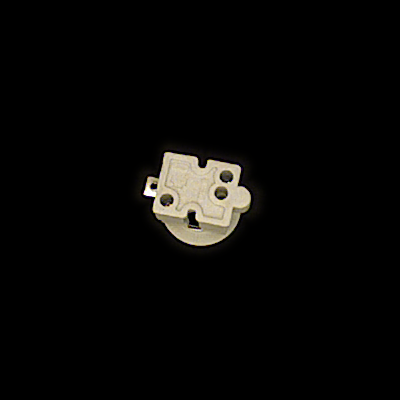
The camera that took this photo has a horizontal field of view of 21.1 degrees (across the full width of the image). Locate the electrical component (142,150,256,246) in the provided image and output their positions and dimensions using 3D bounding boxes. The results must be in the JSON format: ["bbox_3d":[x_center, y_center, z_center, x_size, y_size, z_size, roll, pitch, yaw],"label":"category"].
[{"bbox_3d":[0.000,0.000,0.638,0.066,0.048,0.055,11,-14,4],"label":"electrical component"}]
